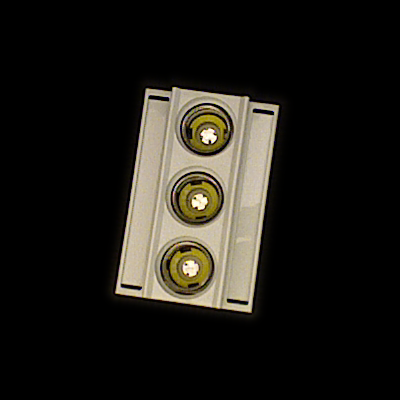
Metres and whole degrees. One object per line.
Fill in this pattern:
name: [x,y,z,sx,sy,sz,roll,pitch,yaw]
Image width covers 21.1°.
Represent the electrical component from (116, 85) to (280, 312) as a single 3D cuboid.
electrical component: [0.000,0.000,0.637,0.079,0.121,0.063,8,-6,3]
